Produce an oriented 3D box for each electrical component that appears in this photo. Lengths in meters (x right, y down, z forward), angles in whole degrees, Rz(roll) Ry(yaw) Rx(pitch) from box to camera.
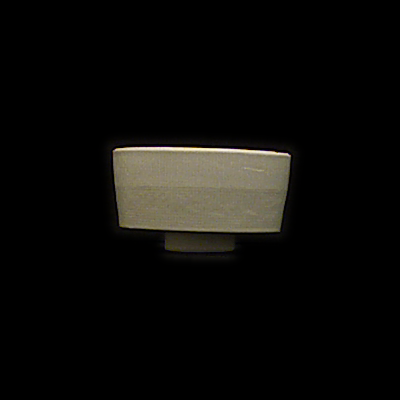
[{"bbox_3d":[0.000,0.000,0.655,0.108,0.060,0.108,2,1,1],"label":"electrical component"}]
